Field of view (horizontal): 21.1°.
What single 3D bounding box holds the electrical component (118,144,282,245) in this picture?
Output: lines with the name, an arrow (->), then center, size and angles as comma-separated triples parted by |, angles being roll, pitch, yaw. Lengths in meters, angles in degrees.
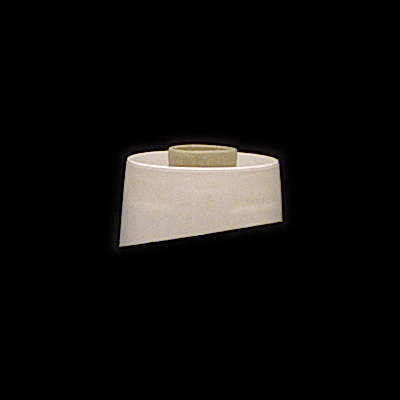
electrical component -> 0.000, 0.000, 0.644 | 0.099, 0.064, 0.098 | 1, 10, 0
